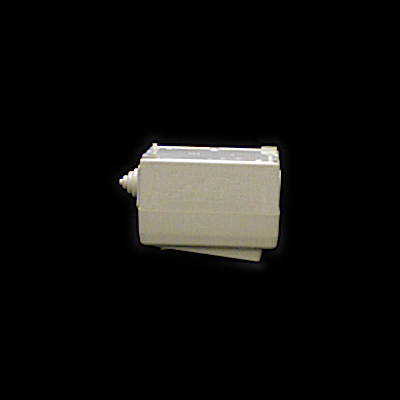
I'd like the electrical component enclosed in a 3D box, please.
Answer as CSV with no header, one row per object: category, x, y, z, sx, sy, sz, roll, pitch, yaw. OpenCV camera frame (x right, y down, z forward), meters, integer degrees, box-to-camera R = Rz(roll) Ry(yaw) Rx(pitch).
electrical component,0.000,0.000,0.642,0.096,0.061,0.061,2,11,2
